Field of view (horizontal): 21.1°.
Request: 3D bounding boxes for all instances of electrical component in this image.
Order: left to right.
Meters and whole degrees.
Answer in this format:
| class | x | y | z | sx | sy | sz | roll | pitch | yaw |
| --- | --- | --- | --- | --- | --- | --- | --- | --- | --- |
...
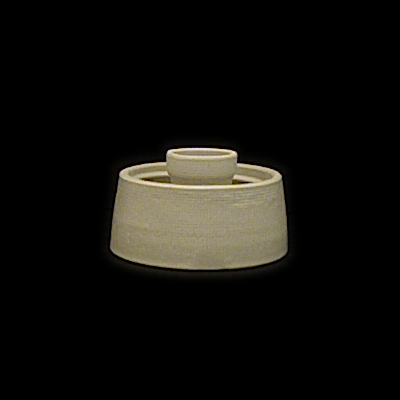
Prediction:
| class | x | y | z | sx | sy | sz | roll | pitch | yaw |
| --- | --- | --- | --- | --- | --- | --- | --- | --- | --- |
| electrical component | 0.000 | 0.000 | 0.650 | 0.108 | 0.061 | 0.107 | 1 | 11 | 0 |
